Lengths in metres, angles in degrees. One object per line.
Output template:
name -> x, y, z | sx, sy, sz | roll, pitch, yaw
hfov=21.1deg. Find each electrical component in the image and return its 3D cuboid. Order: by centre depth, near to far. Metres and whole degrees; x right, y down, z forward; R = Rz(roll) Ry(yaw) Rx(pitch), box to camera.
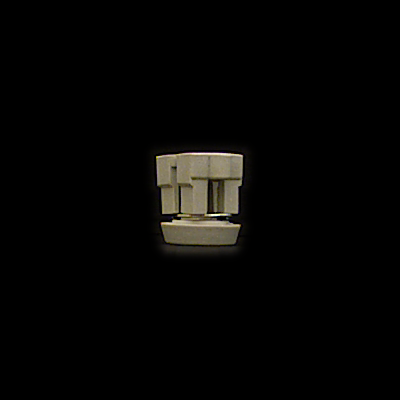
electrical component -> 0.000, 0.000, 0.656 | 0.049, 0.055, 0.066 | -1, 2, -31
